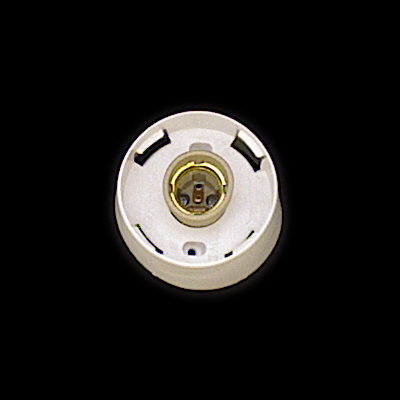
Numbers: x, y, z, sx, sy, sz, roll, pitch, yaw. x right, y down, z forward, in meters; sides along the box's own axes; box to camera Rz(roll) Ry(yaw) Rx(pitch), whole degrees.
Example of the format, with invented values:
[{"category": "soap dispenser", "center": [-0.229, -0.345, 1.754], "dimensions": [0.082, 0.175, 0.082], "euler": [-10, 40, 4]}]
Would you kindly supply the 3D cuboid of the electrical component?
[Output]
[{"category": "electrical component", "center": [0.000, 0.000, 0.624], "dimensions": [0.099, 0.099, 0.063], "euler": [0, -17, -1]}]
